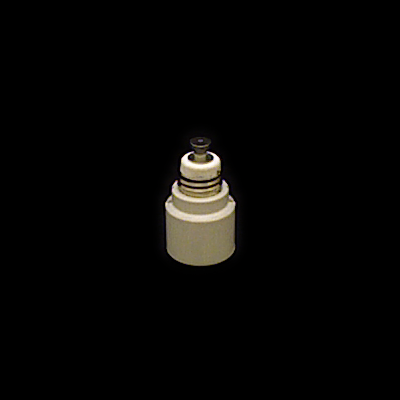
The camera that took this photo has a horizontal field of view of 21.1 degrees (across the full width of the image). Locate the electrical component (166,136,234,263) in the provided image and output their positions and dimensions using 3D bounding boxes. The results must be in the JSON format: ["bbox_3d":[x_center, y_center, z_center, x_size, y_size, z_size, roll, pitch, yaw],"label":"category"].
[{"bbox_3d":[0.000,0.000,0.629,0.040,0.079,0.039,0,32,0],"label":"electrical component"}]
